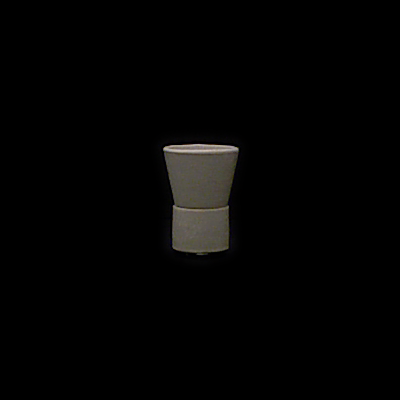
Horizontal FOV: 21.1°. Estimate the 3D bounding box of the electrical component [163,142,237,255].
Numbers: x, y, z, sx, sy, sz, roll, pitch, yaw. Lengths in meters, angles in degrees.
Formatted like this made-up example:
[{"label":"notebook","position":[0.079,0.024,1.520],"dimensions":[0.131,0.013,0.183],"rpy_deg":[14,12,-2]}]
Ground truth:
[{"label":"electrical component","position":[0.000,0.000,0.645],"dimensions":[0.044,0.066,0.044],"rpy_deg":[0,10,0]}]
